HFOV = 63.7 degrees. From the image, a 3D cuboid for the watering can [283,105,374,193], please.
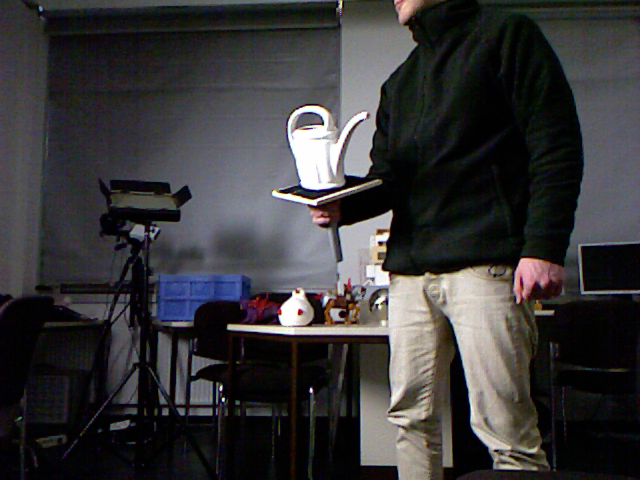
[{"bbox_3d":[0.018,-0.215,1.245,0.105,0.221,0.350,-24,24,-30],"label":"watering can"}]
